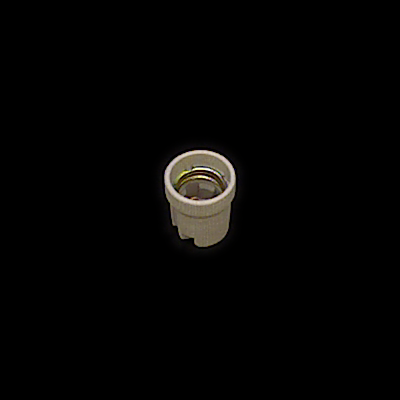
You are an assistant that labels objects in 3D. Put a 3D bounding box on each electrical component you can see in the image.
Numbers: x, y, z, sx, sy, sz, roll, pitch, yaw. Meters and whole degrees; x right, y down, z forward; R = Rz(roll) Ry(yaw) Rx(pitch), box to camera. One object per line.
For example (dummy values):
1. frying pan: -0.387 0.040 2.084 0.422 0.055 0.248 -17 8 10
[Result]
1. electrical component: 0.000 0.000 0.630 0.040 0.040 0.046 0 -38 -1
